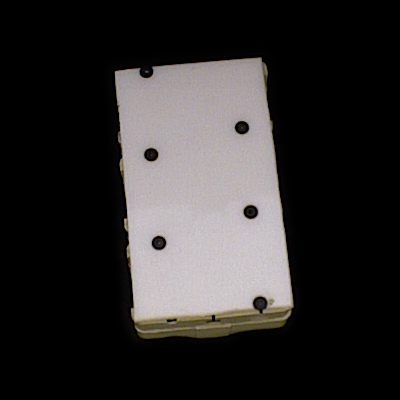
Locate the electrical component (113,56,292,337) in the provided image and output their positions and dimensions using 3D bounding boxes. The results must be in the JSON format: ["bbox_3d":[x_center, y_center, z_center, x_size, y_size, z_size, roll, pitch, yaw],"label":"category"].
[{"bbox_3d":[0.000,0.000,0.631,0.090,0.149,0.062,-5,-17,-1],"label":"electrical component"}]
